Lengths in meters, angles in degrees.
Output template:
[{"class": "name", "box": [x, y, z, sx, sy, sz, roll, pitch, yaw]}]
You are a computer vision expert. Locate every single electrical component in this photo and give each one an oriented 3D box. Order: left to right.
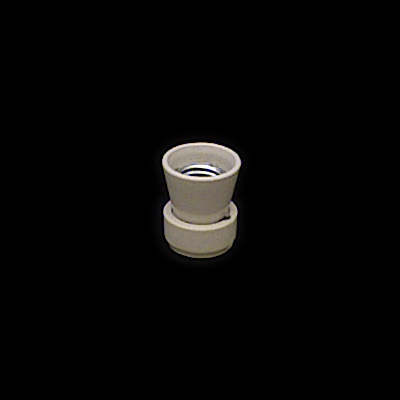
[{"class": "electrical component", "box": [0.000, 0.000, 0.637, 0.045, 0.056, 0.044, 1, 31, -1]}]
